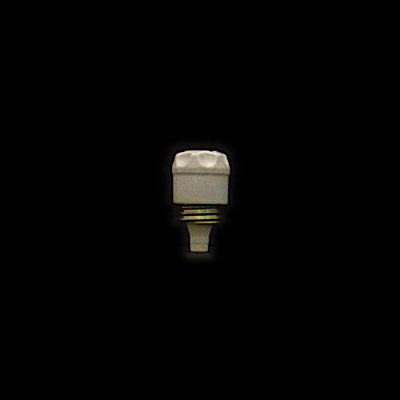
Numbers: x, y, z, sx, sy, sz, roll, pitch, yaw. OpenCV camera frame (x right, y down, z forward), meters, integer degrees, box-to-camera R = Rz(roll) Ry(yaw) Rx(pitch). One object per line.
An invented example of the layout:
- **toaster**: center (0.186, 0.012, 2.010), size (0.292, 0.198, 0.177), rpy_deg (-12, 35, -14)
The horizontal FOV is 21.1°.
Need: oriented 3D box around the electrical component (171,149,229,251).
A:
- **electrical component**: center (0.000, 0.000, 0.655), size (0.035, 0.061, 0.035), rpy_deg (1, 2, 0)
